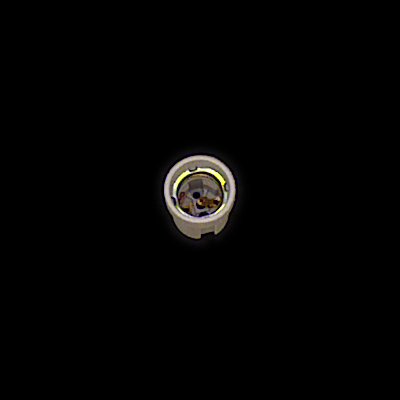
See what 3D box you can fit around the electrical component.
[{"bbox_3d":[0.000,0.000,0.628,0.040,0.040,0.046,0,-17,0],"label":"electrical component"}]
